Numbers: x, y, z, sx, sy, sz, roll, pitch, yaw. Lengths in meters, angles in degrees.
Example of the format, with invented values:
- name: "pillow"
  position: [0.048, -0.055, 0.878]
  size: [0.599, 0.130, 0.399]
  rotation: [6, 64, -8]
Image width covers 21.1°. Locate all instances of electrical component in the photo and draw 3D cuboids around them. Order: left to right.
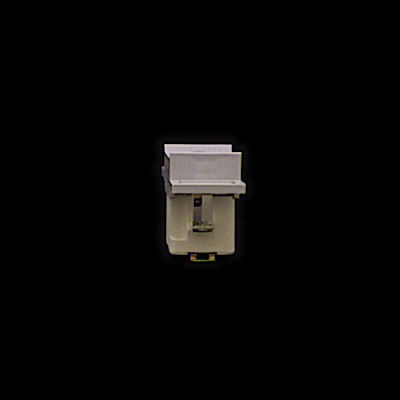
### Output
- name: "electrical component"
  position: [0.000, 0.000, 0.641]
  size: [0.042, 0.064, 0.080]
  rotation: [1, 10, -6]
